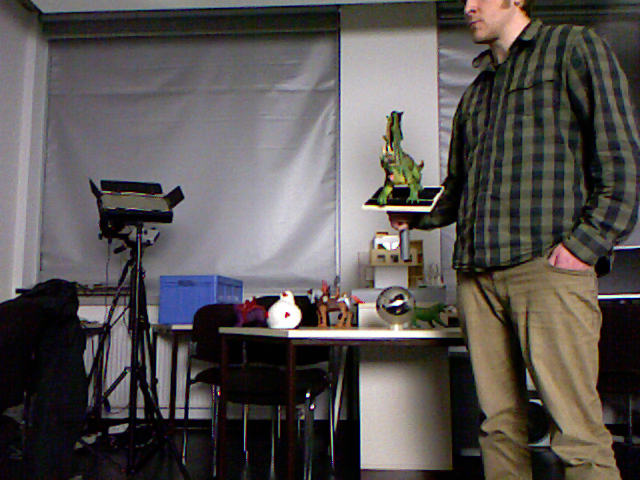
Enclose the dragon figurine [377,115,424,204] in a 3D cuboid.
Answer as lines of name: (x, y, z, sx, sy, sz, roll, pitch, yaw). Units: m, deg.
dragon figurine: (0.241, -0.250, 1.517, 0.122, 0.238, 0.420, 3, 29, 17)
